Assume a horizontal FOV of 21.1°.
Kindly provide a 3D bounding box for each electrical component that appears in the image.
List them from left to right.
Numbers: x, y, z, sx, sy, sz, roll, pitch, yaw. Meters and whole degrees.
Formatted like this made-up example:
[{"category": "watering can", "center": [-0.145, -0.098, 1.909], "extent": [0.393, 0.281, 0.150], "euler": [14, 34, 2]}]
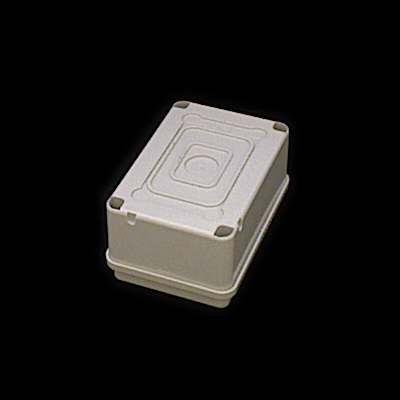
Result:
[{"category": "electrical component", "center": [0.000, 0.000, 0.632], "extent": [0.078, 0.057, 0.112], "euler": [15, 43, 15]}]
